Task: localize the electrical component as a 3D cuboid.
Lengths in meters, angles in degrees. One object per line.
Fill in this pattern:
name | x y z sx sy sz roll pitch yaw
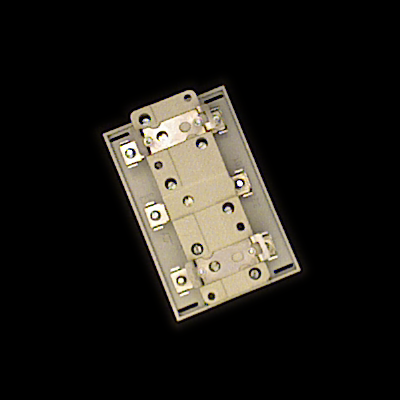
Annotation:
electrical component | 0.000 0.000 0.635 0.079 0.121 0.063 -22 -6 -3
